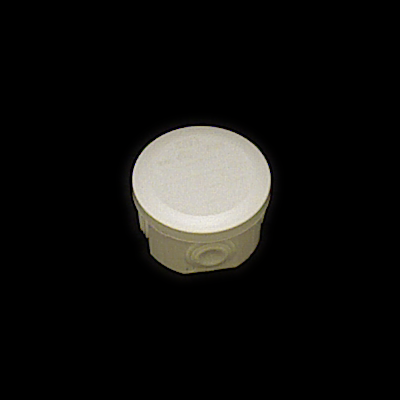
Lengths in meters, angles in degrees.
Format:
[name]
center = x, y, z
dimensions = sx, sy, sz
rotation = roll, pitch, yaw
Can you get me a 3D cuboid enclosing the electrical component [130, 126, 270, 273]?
[electrical component]
center = 0.000, 0.000, 0.632
dimensions = 0.080, 0.080, 0.051
rotation = 0, -38, -1
